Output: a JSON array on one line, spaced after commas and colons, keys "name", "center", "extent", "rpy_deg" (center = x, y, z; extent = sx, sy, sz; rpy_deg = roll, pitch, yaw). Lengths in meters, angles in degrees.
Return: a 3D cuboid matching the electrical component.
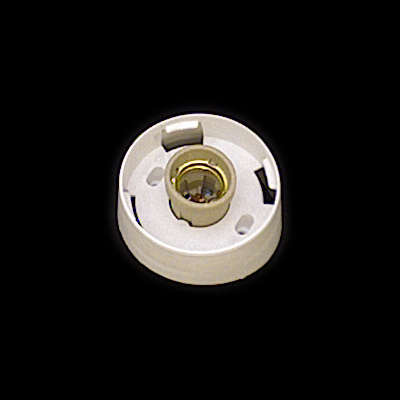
[{"name": "electrical component", "center": [0.000, 0.000, 0.625], "extent": [0.099, 0.099, 0.064], "rpy_deg": [0, -27, 0]}]
